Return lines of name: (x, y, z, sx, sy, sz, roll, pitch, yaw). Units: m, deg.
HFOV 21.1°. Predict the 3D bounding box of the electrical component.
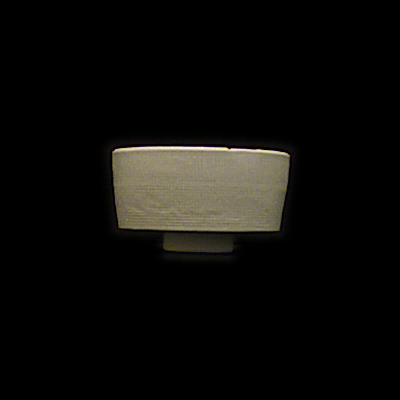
electrical component: (0.000, 0.000, 0.655, 0.108, 0.060, 0.108, 1, 0, 0)
